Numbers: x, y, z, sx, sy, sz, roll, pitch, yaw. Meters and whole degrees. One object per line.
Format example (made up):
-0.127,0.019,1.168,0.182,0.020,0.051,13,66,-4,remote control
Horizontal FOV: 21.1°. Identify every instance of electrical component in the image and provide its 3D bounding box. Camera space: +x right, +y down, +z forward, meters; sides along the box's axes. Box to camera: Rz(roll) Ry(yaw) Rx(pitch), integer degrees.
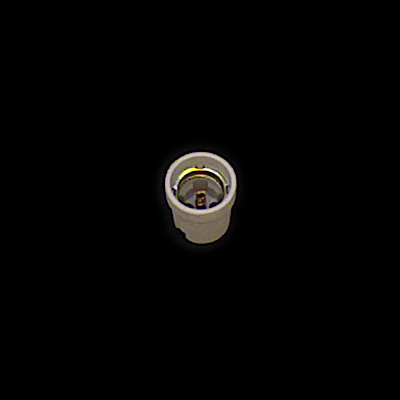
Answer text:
0.000,0.000,0.627,0.040,0.040,0.046,0,-27,0,electrical component
